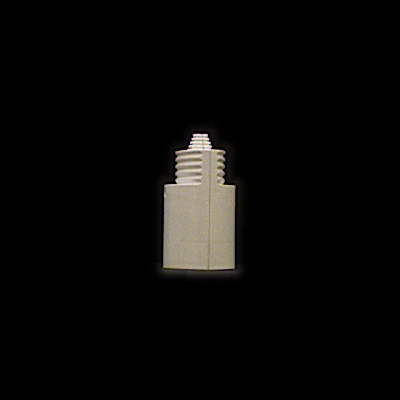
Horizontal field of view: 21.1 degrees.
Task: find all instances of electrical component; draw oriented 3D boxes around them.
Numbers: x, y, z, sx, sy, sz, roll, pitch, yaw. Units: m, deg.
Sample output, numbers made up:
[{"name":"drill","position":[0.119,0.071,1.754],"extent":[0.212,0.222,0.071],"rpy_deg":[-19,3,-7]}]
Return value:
[{"name":"electrical component","position":[0.000,0.000,0.650],"extent":[0.043,0.081,0.043],"rpy_deg":[1,1,0]}]
